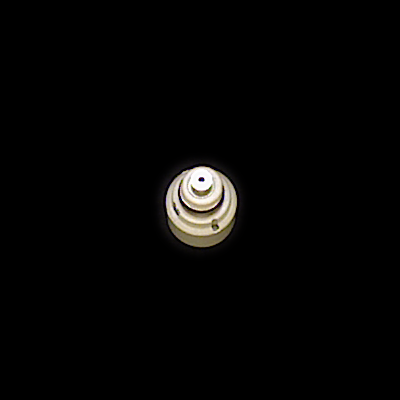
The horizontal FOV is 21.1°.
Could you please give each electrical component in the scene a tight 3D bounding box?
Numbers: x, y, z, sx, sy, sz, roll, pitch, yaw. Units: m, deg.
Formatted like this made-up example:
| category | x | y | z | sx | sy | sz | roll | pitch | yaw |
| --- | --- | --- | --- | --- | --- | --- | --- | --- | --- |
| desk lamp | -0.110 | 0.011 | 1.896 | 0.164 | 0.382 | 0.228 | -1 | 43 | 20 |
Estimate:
| category | x | y | z | sx | sy | sz | roll | pitch | yaw |
| --- | --- | --- | --- | --- | --- | --- | --- | --- | --- |
| electrical component | 0.000 | 0.000 | 0.618 | 0.040 | 0.040 | 0.078 | 0 | -16 | 0 |
